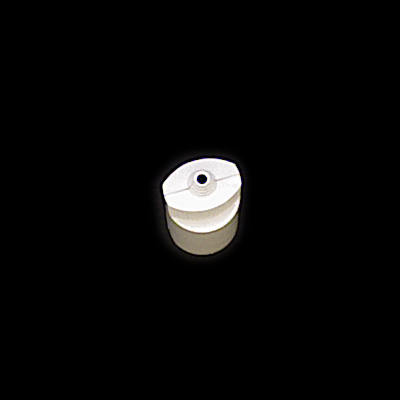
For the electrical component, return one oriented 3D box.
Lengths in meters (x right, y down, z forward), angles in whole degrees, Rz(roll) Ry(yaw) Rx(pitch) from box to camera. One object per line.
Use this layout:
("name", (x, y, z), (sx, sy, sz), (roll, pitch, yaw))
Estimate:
("electrical component", (0.000, 0.000, 0.616), (0.043, 0.043, 0.080), (0, -17, 0))
